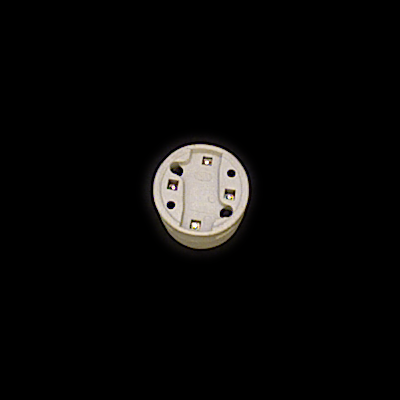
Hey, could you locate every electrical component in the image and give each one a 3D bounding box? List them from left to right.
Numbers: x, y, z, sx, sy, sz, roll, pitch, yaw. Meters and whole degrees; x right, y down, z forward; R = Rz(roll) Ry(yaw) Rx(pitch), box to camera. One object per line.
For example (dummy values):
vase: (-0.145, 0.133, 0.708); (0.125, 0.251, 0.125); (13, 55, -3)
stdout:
electrical component: (0.000, 0.000, 0.634); (0.055, 0.056, 0.047); (0, -17, 0)
